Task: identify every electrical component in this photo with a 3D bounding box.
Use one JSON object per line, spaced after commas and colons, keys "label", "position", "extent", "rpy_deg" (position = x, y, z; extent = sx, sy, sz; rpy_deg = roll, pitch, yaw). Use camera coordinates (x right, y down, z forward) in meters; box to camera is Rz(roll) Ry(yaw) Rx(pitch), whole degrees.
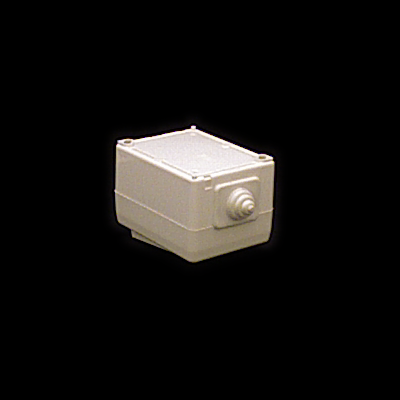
{"label": "electrical component", "position": [0.000, 0.000, 0.637], "extent": [0.061, 0.061, 0.095], "rpy_deg": [-15, 27, -35]}
